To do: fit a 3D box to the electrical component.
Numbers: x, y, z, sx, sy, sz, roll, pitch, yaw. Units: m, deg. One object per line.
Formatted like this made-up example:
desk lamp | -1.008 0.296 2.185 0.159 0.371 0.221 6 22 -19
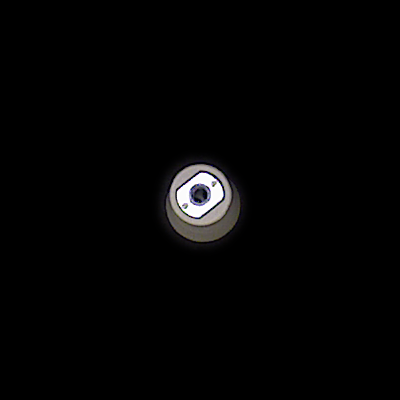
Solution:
electrical component | 0.000 0.000 0.626 0.044 0.044 0.065 0 -7 2
